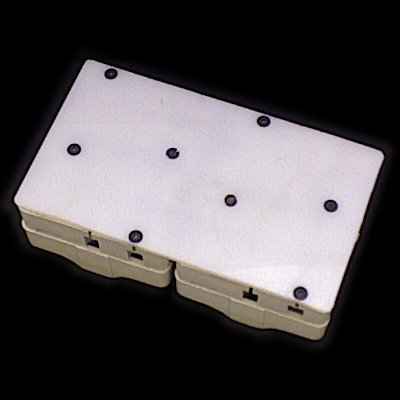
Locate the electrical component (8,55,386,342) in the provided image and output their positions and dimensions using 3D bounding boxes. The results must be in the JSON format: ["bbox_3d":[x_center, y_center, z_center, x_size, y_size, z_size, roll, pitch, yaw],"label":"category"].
[{"bbox_3d":[0.000,0.000,0.625,0.186,0.106,0.060,18,-26,9],"label":"electrical component"}]
